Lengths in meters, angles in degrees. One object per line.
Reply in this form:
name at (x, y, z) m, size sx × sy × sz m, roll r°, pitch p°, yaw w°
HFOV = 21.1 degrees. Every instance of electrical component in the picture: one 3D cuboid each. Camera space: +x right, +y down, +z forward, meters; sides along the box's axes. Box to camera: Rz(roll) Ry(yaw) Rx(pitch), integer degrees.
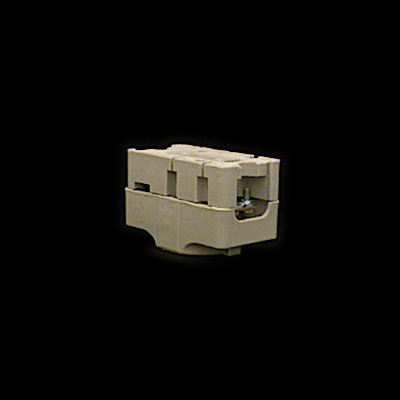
electrical component at (0.000, 0.000, 0.652) m, size 0.050 × 0.056 × 0.088 m, roll -9°, pitch 16°, yaw -43°
